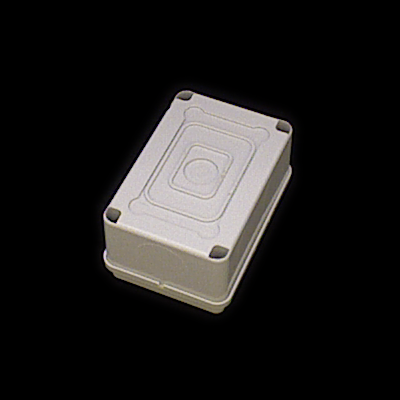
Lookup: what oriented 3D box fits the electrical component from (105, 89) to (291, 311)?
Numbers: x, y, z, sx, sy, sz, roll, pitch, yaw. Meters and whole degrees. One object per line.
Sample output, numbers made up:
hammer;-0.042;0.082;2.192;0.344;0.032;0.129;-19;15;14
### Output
electrical component;0.000;0.000;0.629;0.078;0.113;0.057;19;-35;13
